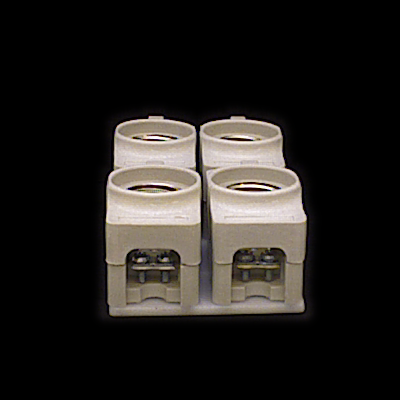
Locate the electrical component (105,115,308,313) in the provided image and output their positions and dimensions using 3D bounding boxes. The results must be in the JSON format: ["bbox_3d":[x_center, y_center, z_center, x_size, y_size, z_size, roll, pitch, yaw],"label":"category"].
[{"bbox_3d":[0.000,0.000,0.638,0.105,0.061,0.184,0,20,-3],"label":"electrical component"}]
